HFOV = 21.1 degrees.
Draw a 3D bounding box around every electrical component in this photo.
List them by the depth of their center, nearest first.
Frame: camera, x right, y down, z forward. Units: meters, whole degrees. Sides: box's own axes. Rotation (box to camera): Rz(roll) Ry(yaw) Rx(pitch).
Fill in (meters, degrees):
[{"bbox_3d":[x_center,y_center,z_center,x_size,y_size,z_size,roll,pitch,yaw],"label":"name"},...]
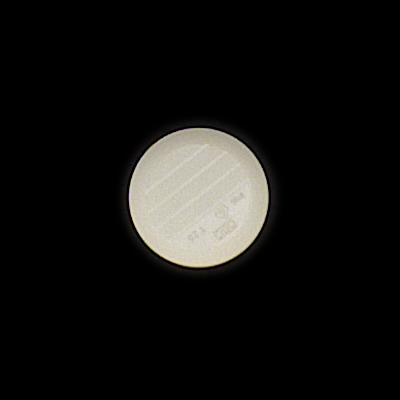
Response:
[{"bbox_3d":[0.000,0.000,0.631,0.080,0.080,0.050,0,-7,0],"label":"electrical component"}]
